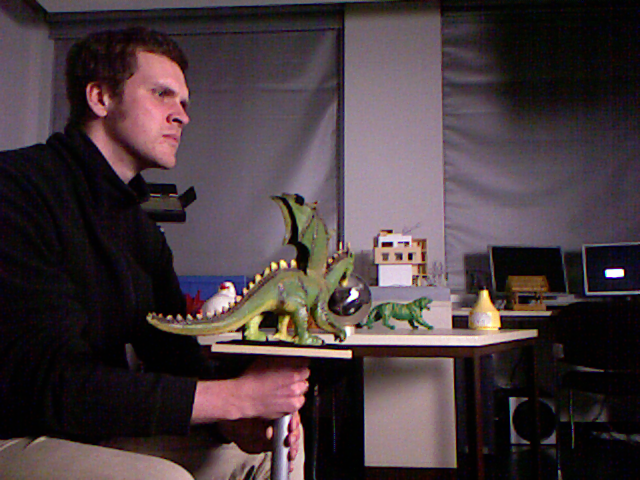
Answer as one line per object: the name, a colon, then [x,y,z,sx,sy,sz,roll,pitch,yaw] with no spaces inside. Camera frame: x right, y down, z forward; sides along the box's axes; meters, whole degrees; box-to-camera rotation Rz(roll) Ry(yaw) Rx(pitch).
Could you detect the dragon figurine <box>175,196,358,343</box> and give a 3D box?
dragon figurine: [-0.050,0.047,0.840,0.122,0.245,0.408,1,-10,34]
